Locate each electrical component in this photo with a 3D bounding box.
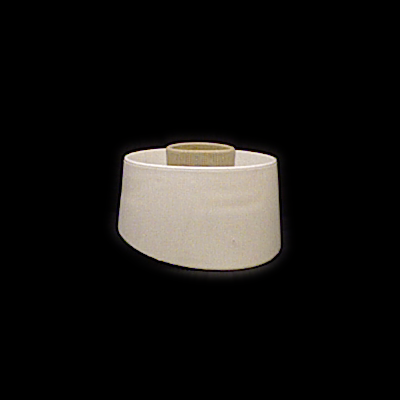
[{"bbox_3d":[0.000,0.000,0.644,0.099,0.064,0.098,1,11,0],"label":"electrical component"}]
